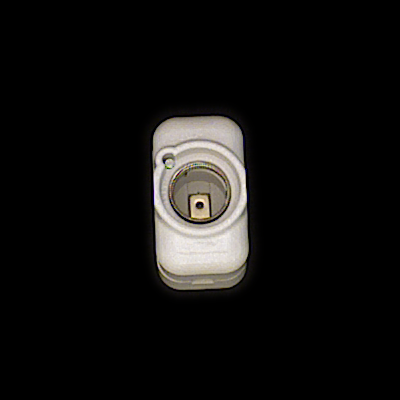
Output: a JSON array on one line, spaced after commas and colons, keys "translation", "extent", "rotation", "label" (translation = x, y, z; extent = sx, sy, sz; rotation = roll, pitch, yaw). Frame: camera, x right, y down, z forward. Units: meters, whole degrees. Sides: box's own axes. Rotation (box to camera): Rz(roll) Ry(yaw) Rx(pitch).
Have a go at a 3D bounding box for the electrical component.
[{"translation": [0.000, 0.000, 0.634], "extent": [0.054, 0.095, 0.059], "rotation": [-3, -16, -1], "label": "electrical component"}]
